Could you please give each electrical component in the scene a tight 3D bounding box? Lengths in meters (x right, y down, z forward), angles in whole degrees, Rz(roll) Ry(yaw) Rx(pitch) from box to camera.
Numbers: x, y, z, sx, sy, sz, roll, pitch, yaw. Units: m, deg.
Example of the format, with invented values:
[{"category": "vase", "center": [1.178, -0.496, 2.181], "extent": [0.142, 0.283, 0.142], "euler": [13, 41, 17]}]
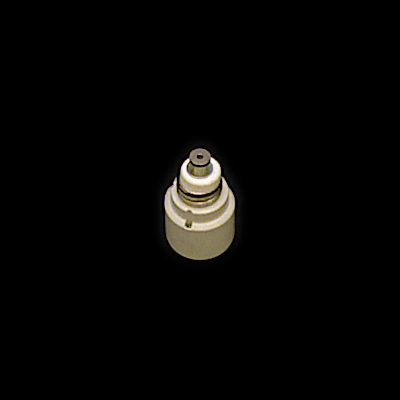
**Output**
[{"category": "electrical component", "center": [0.000, 0.000, 0.622], "extent": [0.040, 0.040, 0.079], "euler": [0, -37, -1]}]
